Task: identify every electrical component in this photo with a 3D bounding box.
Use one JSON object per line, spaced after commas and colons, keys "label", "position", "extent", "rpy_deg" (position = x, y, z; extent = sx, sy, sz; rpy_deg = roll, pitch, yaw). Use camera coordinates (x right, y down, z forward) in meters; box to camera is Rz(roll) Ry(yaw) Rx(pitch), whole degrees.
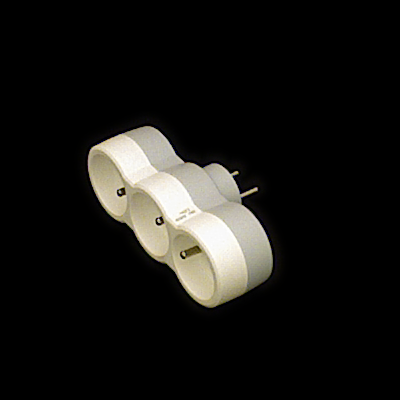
{"label": "electrical component", "position": [0.000, 0.000, 0.641], "extent": [0.074, 0.052, 0.136], "rpy_deg": [-25, 49, -28]}
